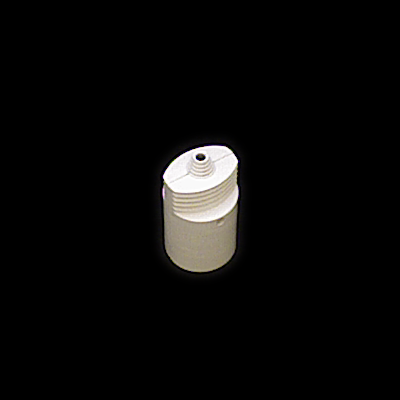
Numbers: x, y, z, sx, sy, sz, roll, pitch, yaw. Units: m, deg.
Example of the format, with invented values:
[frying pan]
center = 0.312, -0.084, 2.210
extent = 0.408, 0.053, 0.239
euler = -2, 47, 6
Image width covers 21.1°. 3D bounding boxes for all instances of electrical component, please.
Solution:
[electrical component]
center = 0.000, 0.000, 0.619
extent = 0.043, 0.043, 0.081
euler = 0, -38, 0
